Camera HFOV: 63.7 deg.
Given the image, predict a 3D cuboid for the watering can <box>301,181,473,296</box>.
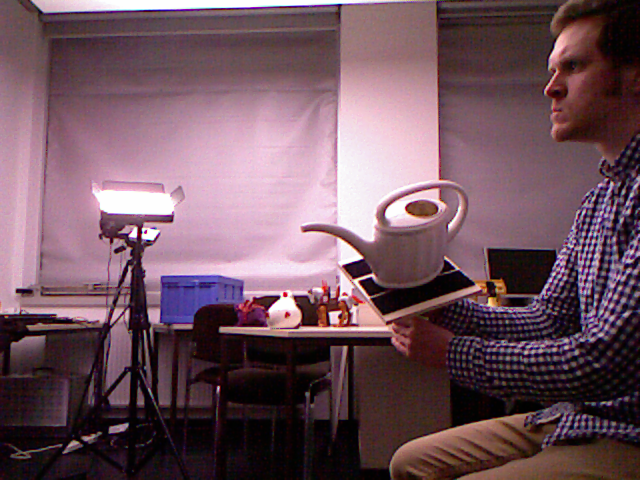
[{"bbox_3d":[0.128,0.006,0.944,0.350,0.219,0.106,-15,37,-19],"label":"watering can"}]
